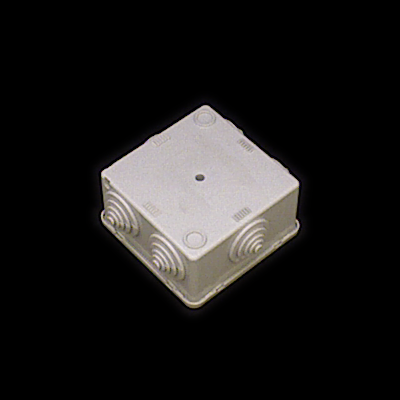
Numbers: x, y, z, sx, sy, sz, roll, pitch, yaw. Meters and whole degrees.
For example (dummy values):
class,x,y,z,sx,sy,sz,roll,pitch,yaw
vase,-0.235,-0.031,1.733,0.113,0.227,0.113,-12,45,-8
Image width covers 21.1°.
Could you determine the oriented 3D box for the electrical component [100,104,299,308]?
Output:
class,x,y,z,sx,sy,sz,roll,pitch,yaw
electrical component,0.000,0.000,0.632,0.100,0.049,0.099,-35,61,-24
